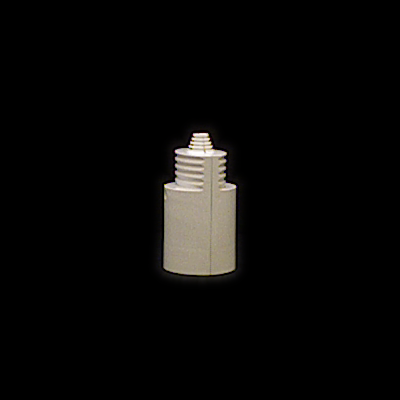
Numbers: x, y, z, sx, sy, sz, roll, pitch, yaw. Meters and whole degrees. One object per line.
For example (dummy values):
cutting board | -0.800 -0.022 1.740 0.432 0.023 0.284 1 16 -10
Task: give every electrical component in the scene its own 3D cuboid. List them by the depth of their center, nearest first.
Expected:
electrical component | 0.000 0.000 0.643 0.043 0.081 0.043 1 11 0
